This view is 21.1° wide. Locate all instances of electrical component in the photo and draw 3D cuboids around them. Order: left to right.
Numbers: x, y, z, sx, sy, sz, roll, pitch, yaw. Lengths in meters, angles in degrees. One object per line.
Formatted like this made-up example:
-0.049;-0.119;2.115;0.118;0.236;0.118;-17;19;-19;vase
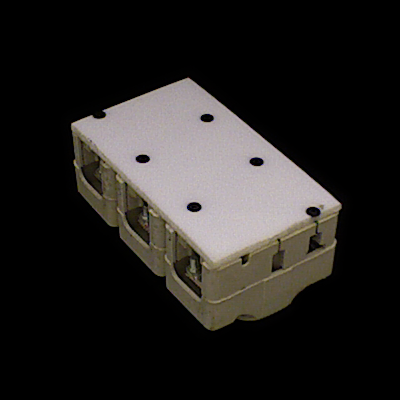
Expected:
0.000;0.000;0.637;0.089;0.063;0.147;-24;47;-26;electrical component
